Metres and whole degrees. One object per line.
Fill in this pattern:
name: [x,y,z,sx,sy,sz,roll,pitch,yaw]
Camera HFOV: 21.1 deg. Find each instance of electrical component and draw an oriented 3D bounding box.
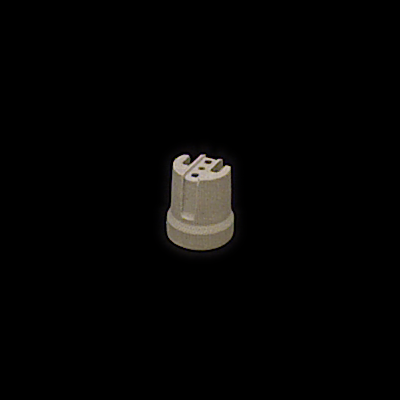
electrical component: [0.000,0.000,0.639,0.040,0.046,0.040,1,32,0]
